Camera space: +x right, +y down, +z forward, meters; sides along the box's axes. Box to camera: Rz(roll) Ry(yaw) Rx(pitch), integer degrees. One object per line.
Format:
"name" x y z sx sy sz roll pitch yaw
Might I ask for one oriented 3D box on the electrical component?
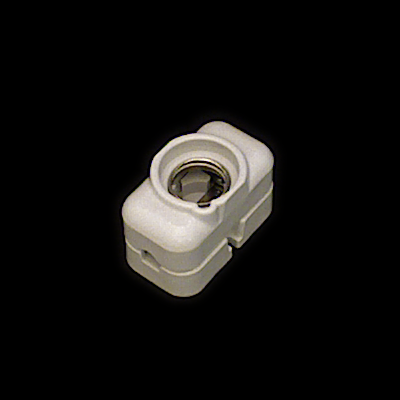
"electrical component" 0.000 0.000 0.634 0.053 0.095 0.059 31 -31 22
